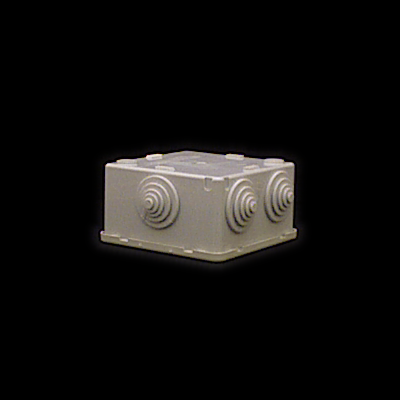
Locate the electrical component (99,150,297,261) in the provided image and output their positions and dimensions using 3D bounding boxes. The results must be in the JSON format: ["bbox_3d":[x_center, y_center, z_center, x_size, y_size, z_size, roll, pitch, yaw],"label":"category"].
[{"bbox_3d":[0.000,0.000,0.644,0.099,0.049,0.099,8,13,34],"label":"electrical component"}]
